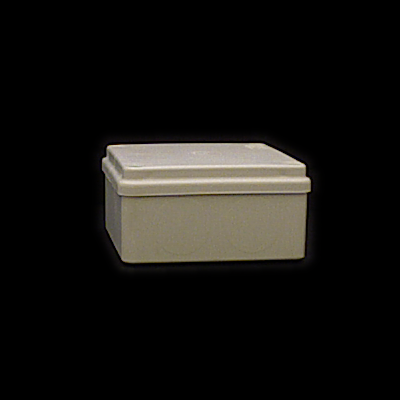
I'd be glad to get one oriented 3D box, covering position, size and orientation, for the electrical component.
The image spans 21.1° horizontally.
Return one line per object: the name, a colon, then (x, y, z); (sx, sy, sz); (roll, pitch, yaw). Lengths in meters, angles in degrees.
electrical component: (0.000, 0.000, 0.643); (0.109, 0.056, 0.107); (-1, 11, -11)
